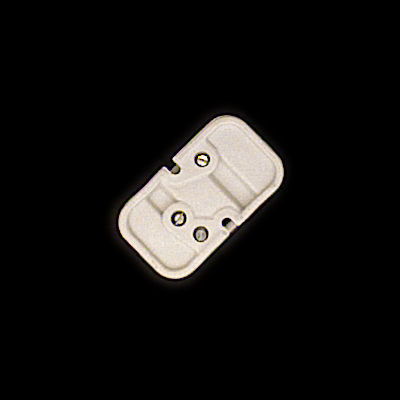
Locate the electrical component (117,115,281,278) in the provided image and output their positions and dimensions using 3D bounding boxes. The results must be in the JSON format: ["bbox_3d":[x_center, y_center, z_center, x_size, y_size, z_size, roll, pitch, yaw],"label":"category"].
[{"bbox_3d":[0.000,0.000,0.636,0.095,0.054,0.059,-44,-5,-4],"label":"electrical component"}]
